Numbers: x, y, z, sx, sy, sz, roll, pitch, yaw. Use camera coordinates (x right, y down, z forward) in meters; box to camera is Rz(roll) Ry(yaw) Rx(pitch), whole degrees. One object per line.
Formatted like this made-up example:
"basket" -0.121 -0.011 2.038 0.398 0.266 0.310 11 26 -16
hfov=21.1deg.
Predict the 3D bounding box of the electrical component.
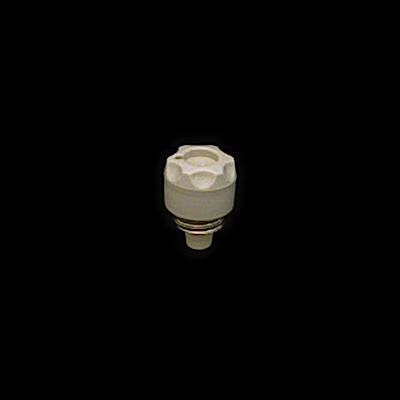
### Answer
"electrical component" 0.000 0.000 0.642 0.043 0.063 0.043 1 32 0
